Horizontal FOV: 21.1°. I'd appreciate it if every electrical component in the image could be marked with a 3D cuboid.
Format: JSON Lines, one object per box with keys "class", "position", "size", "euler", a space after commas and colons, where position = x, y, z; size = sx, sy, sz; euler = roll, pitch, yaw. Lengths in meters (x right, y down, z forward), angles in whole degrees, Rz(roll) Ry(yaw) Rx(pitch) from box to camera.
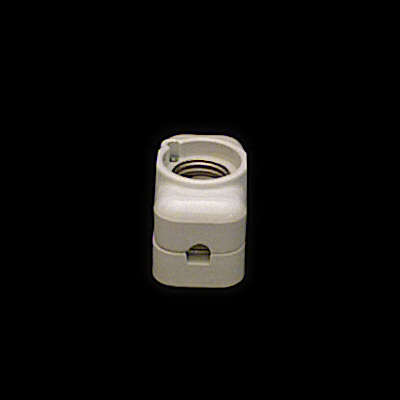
{"class": "electrical component", "position": [0.000, 0.000, 0.641], "size": [0.054, 0.060, 0.094], "euler": [1, 32, 0]}
